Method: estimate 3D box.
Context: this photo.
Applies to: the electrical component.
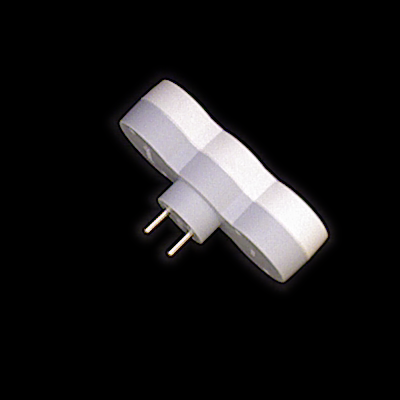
[{"bbox_3d":[0.000,0.000,0.630,0.138,0.074,0.052,44,-10,11],"label":"electrical component"}]
